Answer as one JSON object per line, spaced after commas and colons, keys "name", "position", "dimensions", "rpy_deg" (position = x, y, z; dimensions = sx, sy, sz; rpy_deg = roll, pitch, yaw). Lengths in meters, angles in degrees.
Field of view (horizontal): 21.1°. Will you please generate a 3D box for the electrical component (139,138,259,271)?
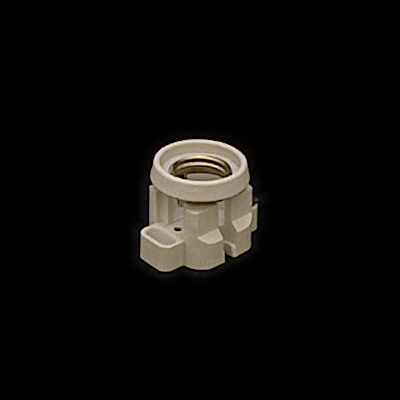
{"name": "electrical component", "position": [0.000, 0.000, 0.637], "dimensions": [0.078, 0.057, 0.057], "rpy_deg": [-24, 40, -35]}
